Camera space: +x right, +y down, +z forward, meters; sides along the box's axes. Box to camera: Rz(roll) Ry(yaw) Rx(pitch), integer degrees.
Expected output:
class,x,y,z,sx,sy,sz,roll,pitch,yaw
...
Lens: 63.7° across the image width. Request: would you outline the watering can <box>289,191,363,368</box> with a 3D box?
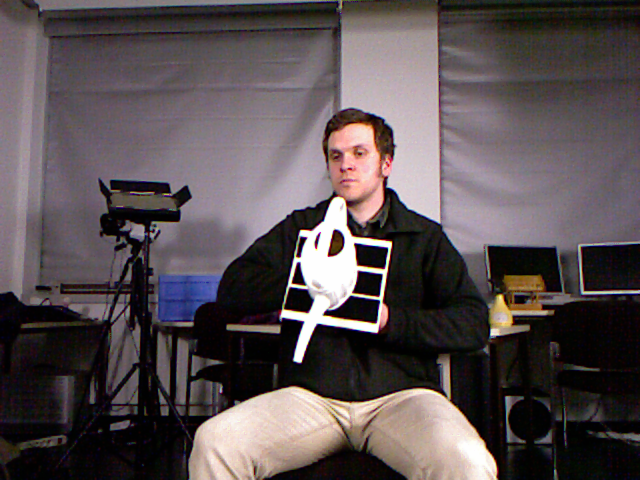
class,x,y,z,sx,sy,sz,roll,pitch,yaw
watering can,0.011,0.080,0.990,0.104,0.354,0.221,10,-20,15
